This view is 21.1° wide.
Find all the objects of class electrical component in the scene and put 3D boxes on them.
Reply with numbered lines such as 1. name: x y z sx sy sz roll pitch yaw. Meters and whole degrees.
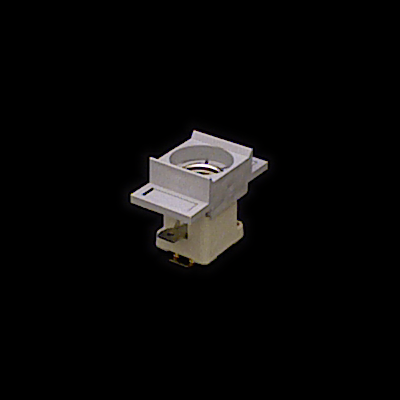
1. electrical component: 0.000 0.000 0.630 0.042 0.064 0.080 22 36 29
